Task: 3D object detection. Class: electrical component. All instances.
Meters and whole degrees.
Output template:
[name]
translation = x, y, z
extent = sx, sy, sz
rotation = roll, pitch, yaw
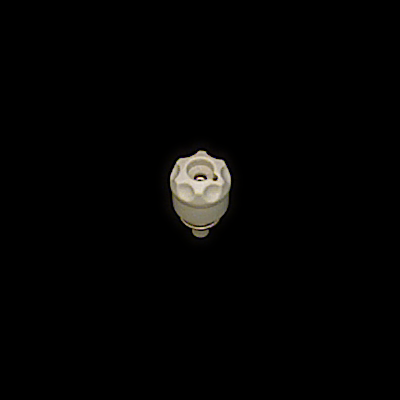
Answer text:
[electrical component]
translation = 0.000, 0.000, 0.634
extent = 0.035, 0.035, 0.061
rotation = 0, -37, 0
